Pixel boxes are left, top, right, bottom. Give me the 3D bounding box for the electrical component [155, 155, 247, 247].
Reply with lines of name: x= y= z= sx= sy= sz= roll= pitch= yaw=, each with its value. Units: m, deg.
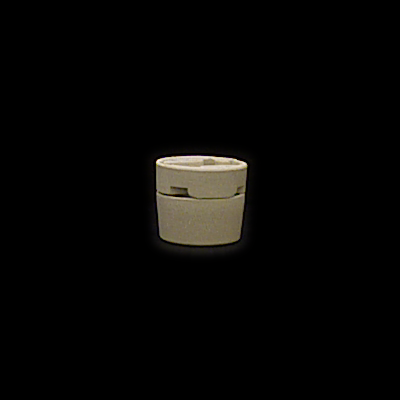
electrical component: x=0.000 y=0.000 z=0.647 sx=0.055 sy=0.047 sz=0.055 roll=1 pitch=11 yaw=0
